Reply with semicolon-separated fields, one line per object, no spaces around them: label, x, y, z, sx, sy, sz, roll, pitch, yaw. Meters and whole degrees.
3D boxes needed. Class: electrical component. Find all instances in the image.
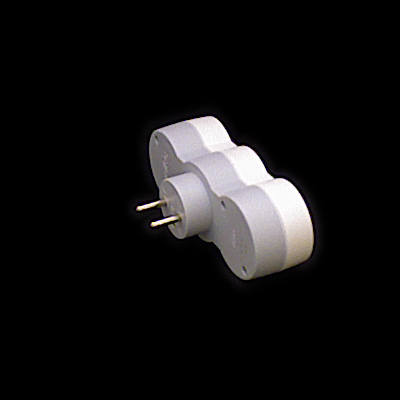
electrical component;0.000;0.000;0.634;0.073;0.053;0.137;-17;37;-23
